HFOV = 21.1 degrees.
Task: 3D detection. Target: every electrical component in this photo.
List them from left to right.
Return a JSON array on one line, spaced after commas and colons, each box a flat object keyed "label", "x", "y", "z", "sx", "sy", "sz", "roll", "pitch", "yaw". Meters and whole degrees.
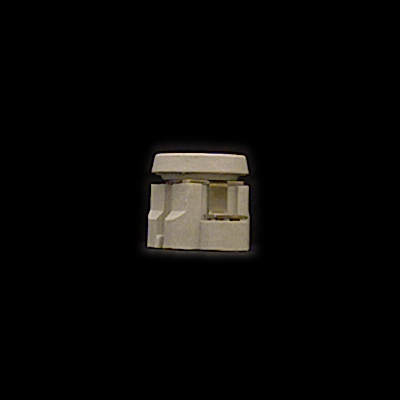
[{"label": "electrical component", "x": 0.000, "y": 0.000, "z": 0.649, "sx": 0.058, "sy": 0.057, "sz": 0.078, "roll": 1, "pitch": 1, "yaw": -30}]
